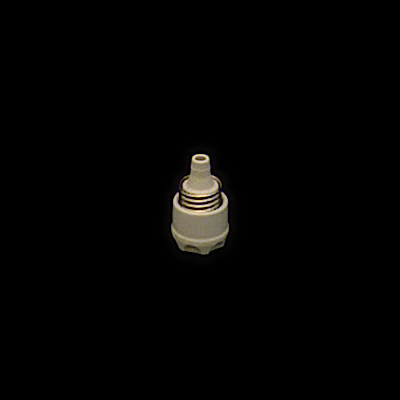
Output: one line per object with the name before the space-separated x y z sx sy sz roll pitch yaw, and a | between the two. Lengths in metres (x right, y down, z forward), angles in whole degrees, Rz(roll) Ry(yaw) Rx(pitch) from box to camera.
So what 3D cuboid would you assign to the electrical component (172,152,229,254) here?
electrical component | 0.000 0.000 0.648 0.035 0.062 0.034 0 34 0
